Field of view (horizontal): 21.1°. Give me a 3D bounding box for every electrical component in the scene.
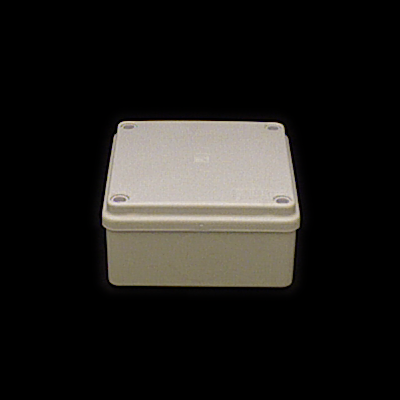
[{"bbox_3d":[0.000,0.000,0.637,0.109,0.057,0.107,1,31,-1],"label":"electrical component"}]
